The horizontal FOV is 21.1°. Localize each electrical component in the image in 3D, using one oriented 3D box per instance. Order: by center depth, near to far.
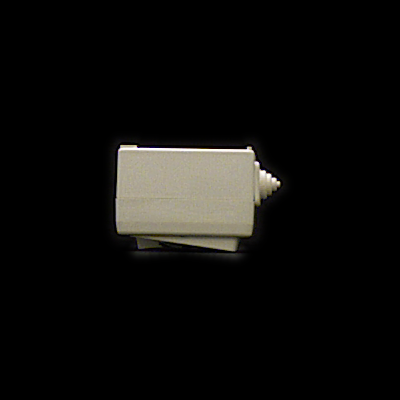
[{"bbox_3d":[0.000,0.000,0.652,0.096,0.061,0.061,1,0,5],"label":"electrical component"}]
